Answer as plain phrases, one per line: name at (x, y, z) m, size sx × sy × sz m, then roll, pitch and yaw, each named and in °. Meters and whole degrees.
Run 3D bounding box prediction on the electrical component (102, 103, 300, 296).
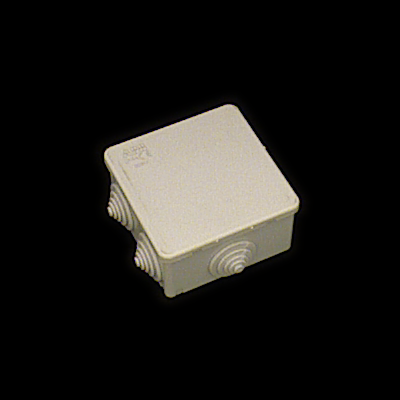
electrical component at (0.000, 0.000, 0.640) m, size 0.100 × 0.099 × 0.048 m, roll -21°, pitch -34°, yaw -15°
